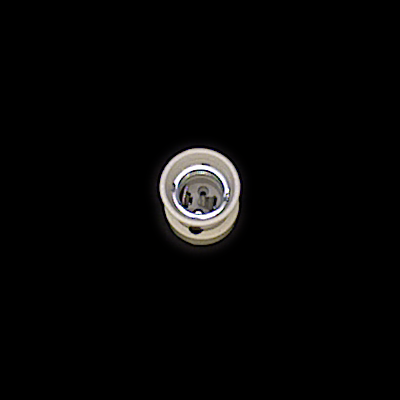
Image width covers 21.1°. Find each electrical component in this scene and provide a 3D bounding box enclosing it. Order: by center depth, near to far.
[{"bbox_3d":[0.000,0.000,0.627,0.045,0.045,0.055,0,-17,1],"label":"electrical component"}]
